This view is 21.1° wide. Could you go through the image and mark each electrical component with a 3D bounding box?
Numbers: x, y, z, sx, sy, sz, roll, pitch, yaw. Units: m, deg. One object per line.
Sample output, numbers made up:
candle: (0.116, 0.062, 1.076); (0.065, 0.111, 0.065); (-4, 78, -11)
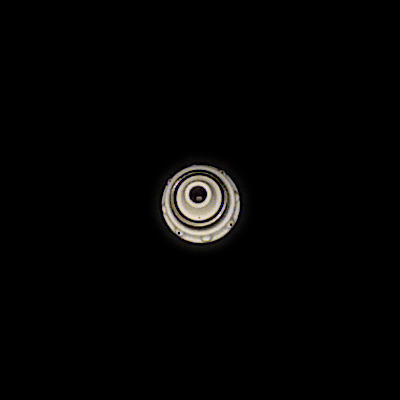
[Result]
electrical component: (0.000, 0.000, 0.635); (0.048, 0.048, 0.061); (0, -6, 1)
